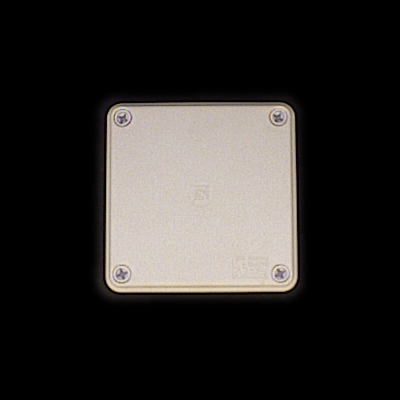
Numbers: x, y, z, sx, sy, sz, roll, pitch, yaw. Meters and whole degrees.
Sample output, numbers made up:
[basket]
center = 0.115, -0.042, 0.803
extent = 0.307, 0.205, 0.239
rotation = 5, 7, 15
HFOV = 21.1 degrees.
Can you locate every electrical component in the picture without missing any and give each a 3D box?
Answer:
[electrical component]
center = 0.000, 0.000, 0.631
extent = 0.109, 0.109, 0.056
rotation = 0, -7, 0
